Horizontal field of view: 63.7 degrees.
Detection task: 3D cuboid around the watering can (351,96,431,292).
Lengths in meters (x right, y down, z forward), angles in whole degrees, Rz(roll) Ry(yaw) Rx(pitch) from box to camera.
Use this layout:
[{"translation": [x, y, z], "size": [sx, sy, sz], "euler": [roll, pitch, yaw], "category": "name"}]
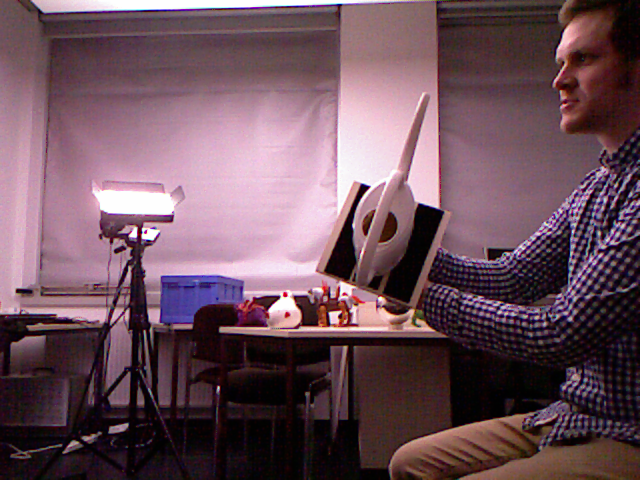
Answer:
[{"translation": [0.130, -0.064, 0.921], "size": [0.104, 0.353, 0.222], "euler": [20, -14, 10], "category": "watering can"}]
